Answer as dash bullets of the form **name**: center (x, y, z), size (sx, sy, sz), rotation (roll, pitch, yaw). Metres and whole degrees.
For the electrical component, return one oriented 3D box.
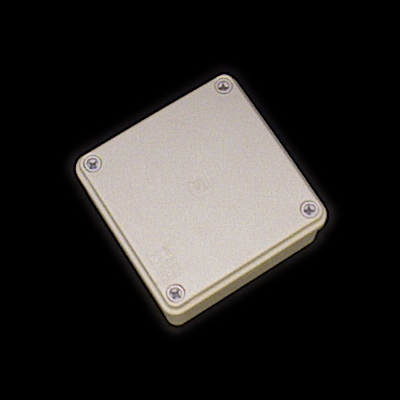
- **electrical component**: center (0.000, 0.000, 0.630), size (0.109, 0.109, 0.056), rotation (-31, -14, -10)
